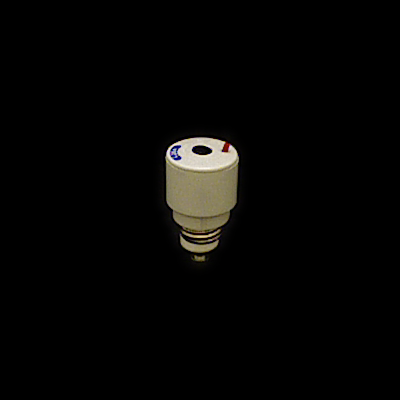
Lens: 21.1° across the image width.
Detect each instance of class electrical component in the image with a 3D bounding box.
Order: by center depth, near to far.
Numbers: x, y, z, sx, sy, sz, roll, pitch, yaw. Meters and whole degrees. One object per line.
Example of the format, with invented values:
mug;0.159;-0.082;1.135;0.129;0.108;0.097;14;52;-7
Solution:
electrical component;0.000;0.000;0.629;0.040;0.079;0.039;1;31;-1
